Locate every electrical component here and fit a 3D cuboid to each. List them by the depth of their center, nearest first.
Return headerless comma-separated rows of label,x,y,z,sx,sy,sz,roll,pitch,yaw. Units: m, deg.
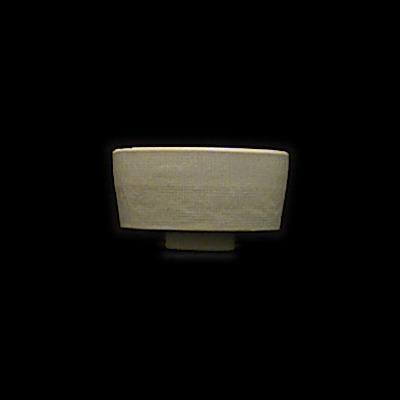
electrical component,0.000,0.000,0.660,0.108,0.060,0.108,1,1,0
